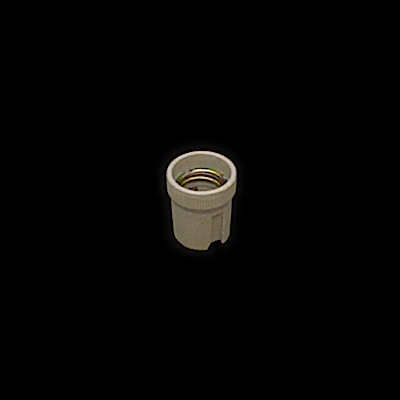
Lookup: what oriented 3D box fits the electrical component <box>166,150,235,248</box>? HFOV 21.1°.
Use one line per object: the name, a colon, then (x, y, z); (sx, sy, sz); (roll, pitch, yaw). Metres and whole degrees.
electrical component: (0.000, 0.000, 0.634); (0.040, 0.047, 0.039); (1, 42, 0)
